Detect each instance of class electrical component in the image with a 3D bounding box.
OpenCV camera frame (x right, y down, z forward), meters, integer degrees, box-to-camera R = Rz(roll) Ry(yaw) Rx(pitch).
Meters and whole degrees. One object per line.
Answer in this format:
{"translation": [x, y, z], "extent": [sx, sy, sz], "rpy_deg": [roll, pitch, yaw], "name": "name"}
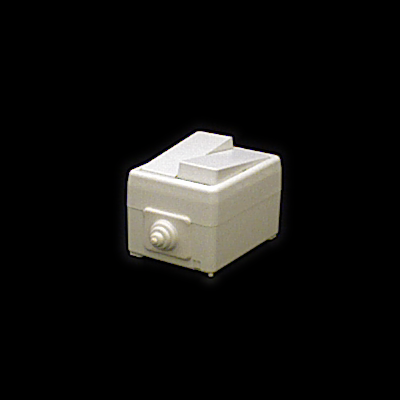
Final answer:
{"translation": [0.000, 0.000, 0.637], "extent": [0.061, 0.061, 0.096], "rpy_deg": [14, 24, 30], "name": "electrical component"}
